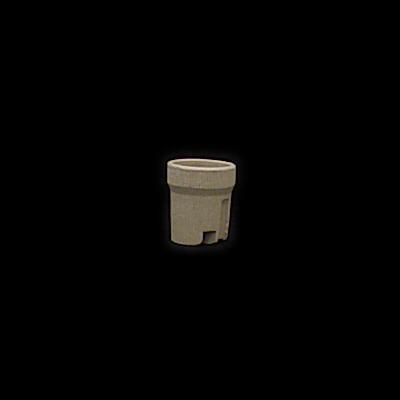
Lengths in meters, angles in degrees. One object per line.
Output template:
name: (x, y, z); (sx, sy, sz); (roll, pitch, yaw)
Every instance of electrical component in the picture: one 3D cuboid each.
electrical component: (0.000, 0.000, 0.643); (0.040, 0.046, 0.040); (1, 11, 0)
